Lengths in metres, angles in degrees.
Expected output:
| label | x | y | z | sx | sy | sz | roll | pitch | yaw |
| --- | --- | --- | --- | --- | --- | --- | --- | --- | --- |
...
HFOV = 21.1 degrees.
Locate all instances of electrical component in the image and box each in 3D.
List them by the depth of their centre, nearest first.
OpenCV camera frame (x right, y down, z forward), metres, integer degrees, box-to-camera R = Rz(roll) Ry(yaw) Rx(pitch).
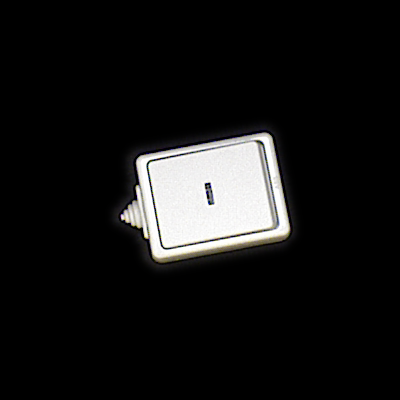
| label | x | y | z | sx | sy | sz | roll | pitch | yaw |
| --- | --- | --- | --- | --- | --- | --- | --- | --- | --- |
| electrical component | 0.000 | 0.000 | 0.626 | 0.096 | 0.062 | 0.061 | -11 | -7 | -1 |
